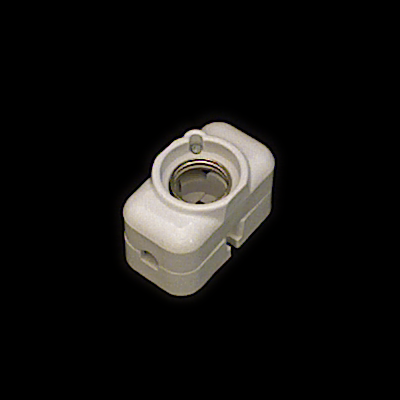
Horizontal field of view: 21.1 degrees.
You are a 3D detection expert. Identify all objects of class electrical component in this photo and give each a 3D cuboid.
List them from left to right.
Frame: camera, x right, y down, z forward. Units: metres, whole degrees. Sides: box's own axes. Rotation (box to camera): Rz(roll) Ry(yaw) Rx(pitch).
[{"bbox_3d":[0.000,0.000,0.636,0.053,0.095,0.059,32,-31,21],"label":"electrical component"}]
